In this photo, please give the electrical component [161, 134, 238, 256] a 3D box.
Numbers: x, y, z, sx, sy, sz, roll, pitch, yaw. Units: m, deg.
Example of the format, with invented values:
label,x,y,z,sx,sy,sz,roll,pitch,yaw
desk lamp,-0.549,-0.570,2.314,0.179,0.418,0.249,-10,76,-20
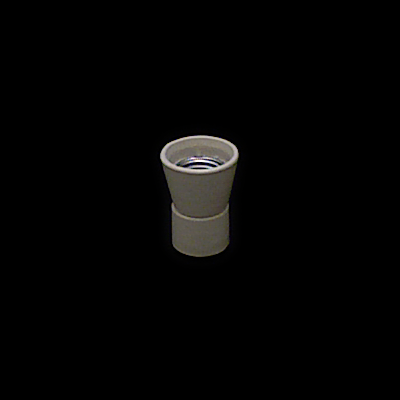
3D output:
label,x,y,z,sx,sy,sz,roll,pitch,yaw
electrical component,0.000,0.000,0.633,0.044,0.066,0.044,0,32,0
